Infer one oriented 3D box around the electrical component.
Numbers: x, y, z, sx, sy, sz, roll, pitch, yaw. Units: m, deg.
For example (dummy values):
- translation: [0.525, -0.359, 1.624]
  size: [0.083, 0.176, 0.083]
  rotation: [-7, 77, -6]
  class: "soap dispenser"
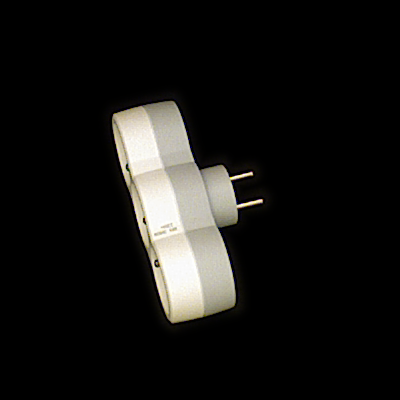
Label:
- translation: [0.000, 0.000, 0.637]
  size: [0.074, 0.138, 0.052]
  rotation: [-14, -26, -9]
  class: "electrical component"
